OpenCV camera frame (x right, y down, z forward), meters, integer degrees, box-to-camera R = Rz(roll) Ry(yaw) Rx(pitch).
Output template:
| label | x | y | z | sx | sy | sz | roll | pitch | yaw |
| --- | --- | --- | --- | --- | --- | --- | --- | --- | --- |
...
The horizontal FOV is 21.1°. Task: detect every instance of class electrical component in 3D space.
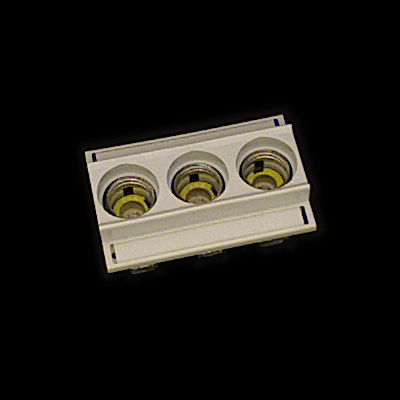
| label | x | y | z | sx | sy | sz | roll | pitch | yaw |
| --- | --- | --- | --- | --- | --- | --- | --- | --- | --- |
| electrical component | 0.000 | 0.000 | 0.638 | 0.121 | 0.078 | 0.063 | -11 | -28 | -5 |
